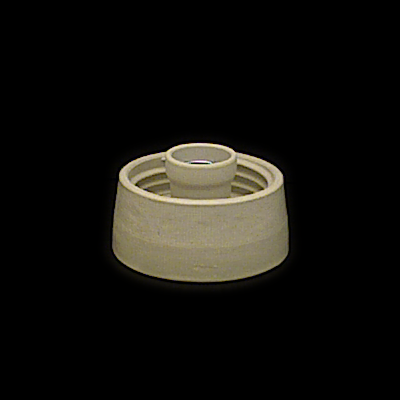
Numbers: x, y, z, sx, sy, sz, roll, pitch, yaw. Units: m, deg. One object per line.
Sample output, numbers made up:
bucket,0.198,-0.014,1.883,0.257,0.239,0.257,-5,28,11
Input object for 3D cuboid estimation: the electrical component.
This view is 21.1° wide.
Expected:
electrical component,0.000,0.000,0.647,0.108,0.061,0.106,1,21,0
